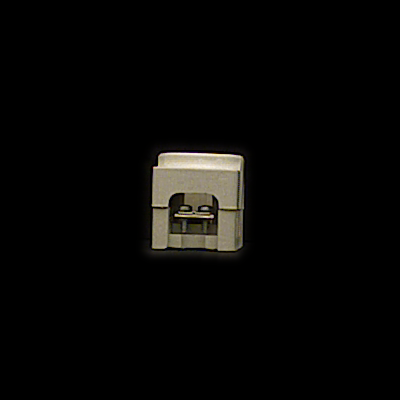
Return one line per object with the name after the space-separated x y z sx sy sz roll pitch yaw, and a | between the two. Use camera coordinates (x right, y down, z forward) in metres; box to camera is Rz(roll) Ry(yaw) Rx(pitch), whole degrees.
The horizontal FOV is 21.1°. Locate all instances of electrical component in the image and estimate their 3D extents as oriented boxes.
0.000 0.000 0.657 0.050 0.056 0.089 1 1 4 | electrical component
